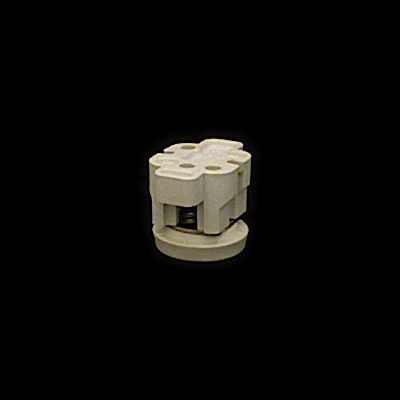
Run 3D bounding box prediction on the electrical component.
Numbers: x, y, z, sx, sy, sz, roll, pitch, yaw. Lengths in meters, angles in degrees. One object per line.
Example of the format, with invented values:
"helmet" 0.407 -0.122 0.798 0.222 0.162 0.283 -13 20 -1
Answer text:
"electrical component" 0.000 0.000 0.648 0.057 0.057 0.078 9 22 21
